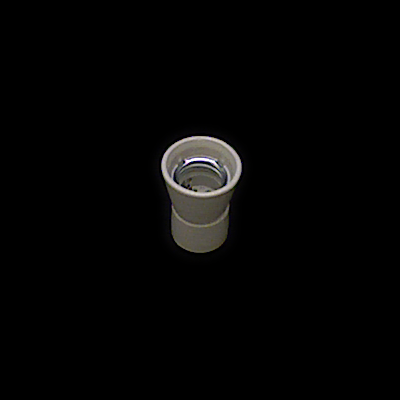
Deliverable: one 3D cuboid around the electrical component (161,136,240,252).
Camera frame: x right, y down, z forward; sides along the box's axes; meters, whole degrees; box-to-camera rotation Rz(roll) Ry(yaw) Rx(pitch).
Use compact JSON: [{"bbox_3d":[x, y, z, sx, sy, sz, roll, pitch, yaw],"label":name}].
[{"bbox_3d":[0.000,0.000,0.628,0.044,0.044,0.065,0,-39,-1],"label":"electrical component"}]
